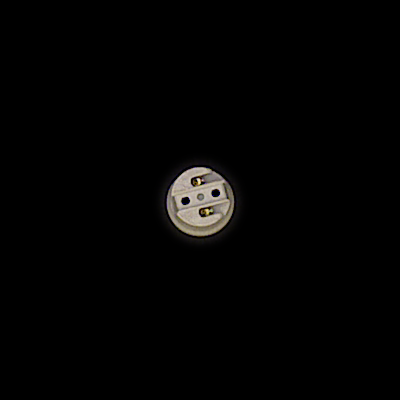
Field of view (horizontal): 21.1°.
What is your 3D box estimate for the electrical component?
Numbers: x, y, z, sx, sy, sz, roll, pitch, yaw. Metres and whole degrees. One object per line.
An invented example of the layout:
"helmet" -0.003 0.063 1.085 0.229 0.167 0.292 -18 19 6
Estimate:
"electrical component" 0.000 0.000 0.634 0.040 0.040 0.046 0 -5 0
